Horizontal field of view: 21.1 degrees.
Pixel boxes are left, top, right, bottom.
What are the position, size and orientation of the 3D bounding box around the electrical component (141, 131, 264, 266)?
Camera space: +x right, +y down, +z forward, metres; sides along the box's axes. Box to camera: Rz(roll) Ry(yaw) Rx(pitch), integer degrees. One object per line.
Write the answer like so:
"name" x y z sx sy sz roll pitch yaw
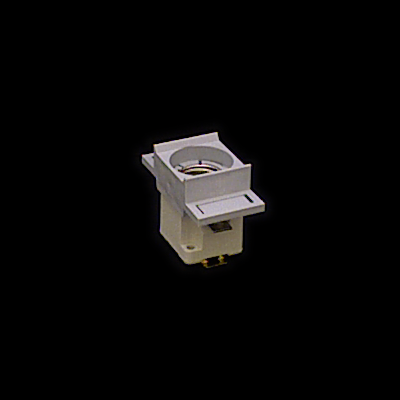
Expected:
"electrical component" 0.000 0.000 0.635 0.042 0.065 0.079 -14 35 -21
